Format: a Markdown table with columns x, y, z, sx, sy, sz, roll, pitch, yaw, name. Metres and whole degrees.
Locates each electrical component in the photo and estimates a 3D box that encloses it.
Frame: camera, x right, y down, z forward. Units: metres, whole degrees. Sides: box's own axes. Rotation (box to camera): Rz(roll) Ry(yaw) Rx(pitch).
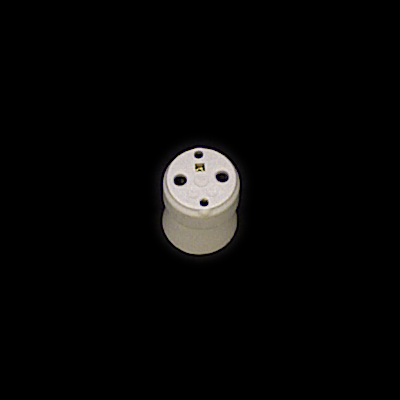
| x | y | z | sx | sy | sz | roll | pitch | yaw | name |
| --- | --- | --- | --- | --- | --- | --- | --- | --- | --- |
| 0.000 | 0.000 | 0.629 | 0.045 | 0.045 | 0.055 | 0 | -27 | -1 | electrical component |
